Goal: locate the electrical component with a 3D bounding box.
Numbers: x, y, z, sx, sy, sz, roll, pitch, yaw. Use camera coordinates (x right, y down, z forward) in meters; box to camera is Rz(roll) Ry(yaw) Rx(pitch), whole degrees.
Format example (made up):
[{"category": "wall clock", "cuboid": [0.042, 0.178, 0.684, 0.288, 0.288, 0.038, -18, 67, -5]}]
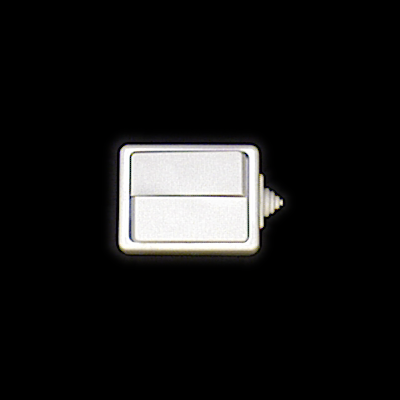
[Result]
[{"category": "electrical component", "cuboid": [0.000, 0.000, 0.627, 0.096, 0.062, 0.061, 1, -7, 1]}]
